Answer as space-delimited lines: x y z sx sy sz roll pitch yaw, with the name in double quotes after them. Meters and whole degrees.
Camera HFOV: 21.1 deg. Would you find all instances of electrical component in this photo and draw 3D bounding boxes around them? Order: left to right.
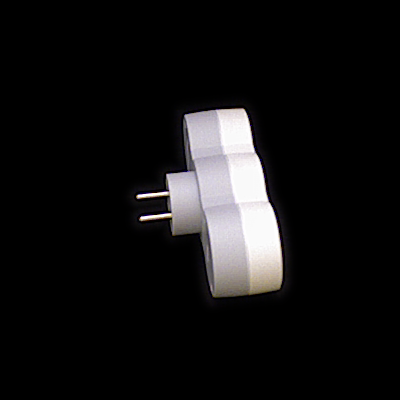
0.000 0.000 0.631 0.074 0.052 0.137 -6 44 -5 "electrical component"
